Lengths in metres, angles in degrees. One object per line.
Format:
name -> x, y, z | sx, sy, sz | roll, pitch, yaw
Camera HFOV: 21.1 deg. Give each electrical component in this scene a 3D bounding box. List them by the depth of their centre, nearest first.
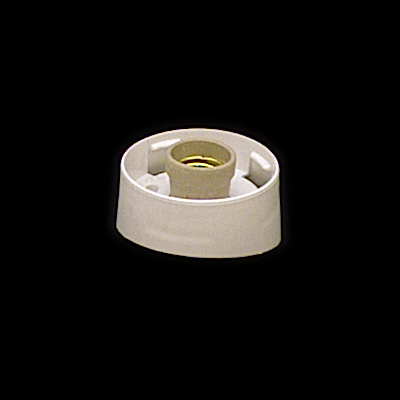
electrical component -> 0.000, 0.000, 0.633 | 0.099, 0.065, 0.097 | 1, 31, 0
